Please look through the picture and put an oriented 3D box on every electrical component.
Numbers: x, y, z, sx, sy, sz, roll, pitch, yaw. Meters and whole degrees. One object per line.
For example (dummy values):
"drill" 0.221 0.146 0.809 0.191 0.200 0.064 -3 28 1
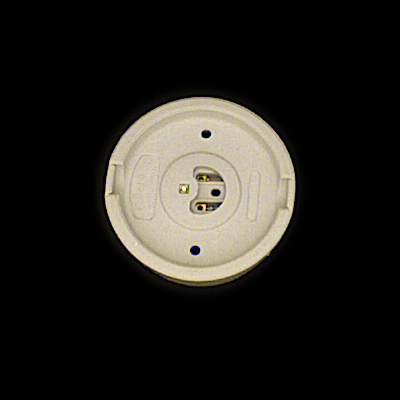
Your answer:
"electrical component" 0.000 0.000 0.633 0.108 0.108 0.060 0 -16 0
